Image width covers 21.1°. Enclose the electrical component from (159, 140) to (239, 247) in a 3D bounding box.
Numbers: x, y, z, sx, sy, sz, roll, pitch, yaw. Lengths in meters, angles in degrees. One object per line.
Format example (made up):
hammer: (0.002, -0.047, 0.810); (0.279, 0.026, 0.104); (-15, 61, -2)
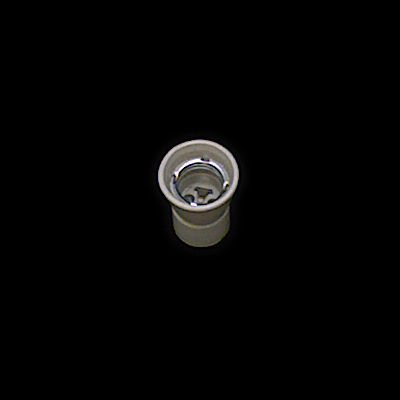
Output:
electrical component: (0.000, 0.000, 0.624); (0.044, 0.044, 0.065); (0, -27, 1)
